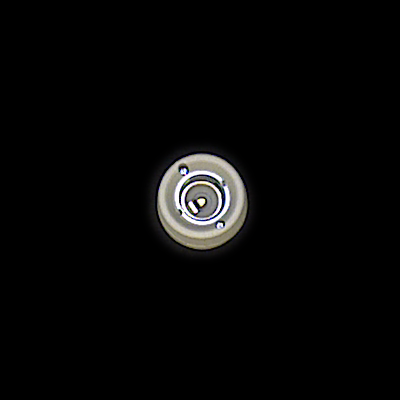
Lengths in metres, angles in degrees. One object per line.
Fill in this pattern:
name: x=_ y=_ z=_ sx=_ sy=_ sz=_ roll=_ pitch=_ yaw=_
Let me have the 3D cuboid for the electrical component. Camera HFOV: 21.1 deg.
electrical component: x=0.000 y=0.000 z=0.634 sx=0.055 sy=0.055 sz=0.047 roll=0 pitch=-8 yaw=1
